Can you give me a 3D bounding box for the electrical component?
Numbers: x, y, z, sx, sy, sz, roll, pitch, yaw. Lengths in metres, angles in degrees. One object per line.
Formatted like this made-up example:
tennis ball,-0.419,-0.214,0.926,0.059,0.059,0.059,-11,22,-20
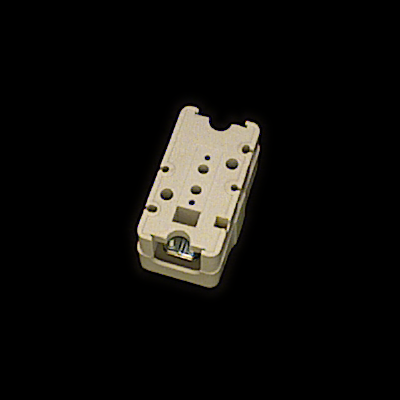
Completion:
electrical component,0.000,0.000,0.636,0.050,0.090,0.055,16,-25,7
